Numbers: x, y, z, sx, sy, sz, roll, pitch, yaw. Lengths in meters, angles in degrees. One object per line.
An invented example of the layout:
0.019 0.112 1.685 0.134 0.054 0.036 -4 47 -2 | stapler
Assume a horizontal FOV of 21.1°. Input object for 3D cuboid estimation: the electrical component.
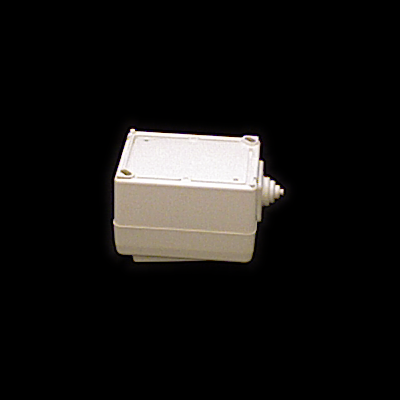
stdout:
0.000 0.000 0.633 0.096 0.061 0.061 4 32 3 | electrical component
